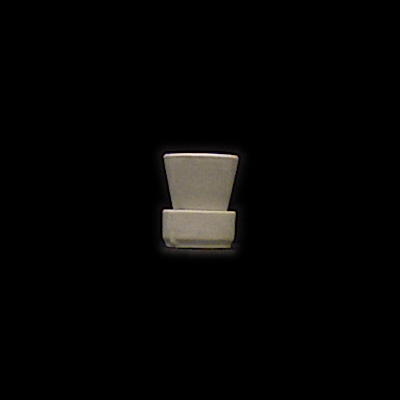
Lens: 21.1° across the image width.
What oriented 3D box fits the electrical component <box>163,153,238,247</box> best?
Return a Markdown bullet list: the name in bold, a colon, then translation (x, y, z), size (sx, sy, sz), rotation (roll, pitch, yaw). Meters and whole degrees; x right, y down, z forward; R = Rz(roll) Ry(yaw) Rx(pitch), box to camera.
- **electrical component**: translation (0.000, 0.000, 0.650), size (0.045, 0.055, 0.044), rotation (1, 2, 0)
